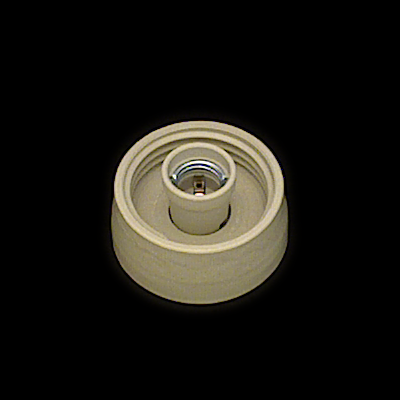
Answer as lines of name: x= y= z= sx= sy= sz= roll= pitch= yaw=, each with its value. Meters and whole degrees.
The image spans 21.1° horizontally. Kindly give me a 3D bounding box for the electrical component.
electrical component: x=0.000 y=0.000 z=0.634 sx=0.108 sy=0.107 sz=0.060 roll=0 pitch=-37 yaw=-1
